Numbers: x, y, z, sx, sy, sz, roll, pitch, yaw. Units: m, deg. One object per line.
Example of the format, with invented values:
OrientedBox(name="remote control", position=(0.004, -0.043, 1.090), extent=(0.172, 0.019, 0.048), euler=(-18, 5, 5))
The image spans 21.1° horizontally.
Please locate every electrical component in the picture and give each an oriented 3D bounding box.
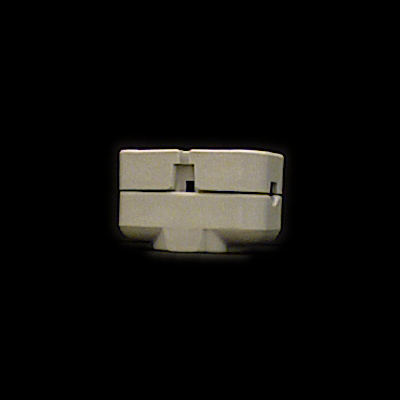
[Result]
OrientedBox(name="electrical component", position=(0.000, 0.000, 0.654), extent=(0.094, 0.059, 0.054), euler=(2, 1, 22))
